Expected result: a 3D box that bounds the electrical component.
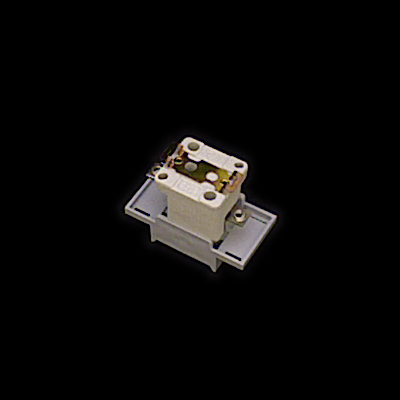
[{"bbox_3d":[0.000,0.000,0.627,0.080,0.042,0.064,25,-34,18],"label":"electrical component"}]
